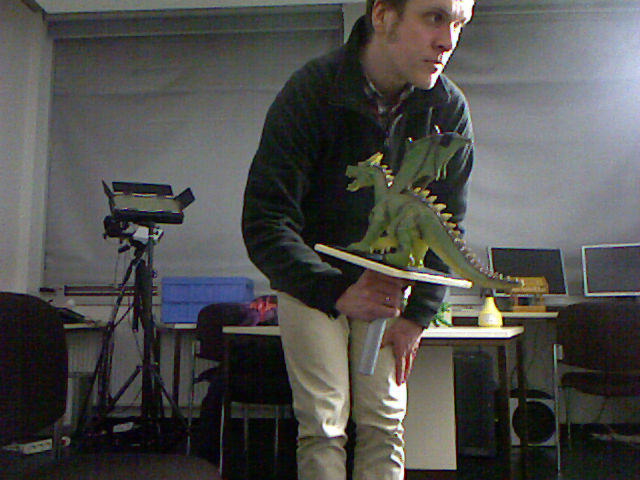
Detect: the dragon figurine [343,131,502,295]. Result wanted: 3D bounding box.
[{"bbox_3d":[0.174,-0.074,0.899,0.122,0.243,0.414,12,5,-38],"label":"dragon figurine"}]
